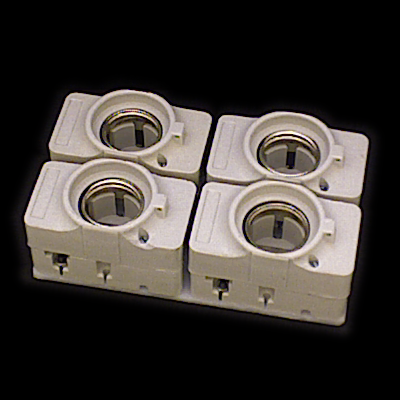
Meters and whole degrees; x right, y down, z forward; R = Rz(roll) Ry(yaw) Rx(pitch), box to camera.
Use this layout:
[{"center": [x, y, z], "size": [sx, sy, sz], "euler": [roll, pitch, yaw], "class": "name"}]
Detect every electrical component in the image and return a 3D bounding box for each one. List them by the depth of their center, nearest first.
[{"center": [0.000, 0.000, 0.628], "size": [0.186, 0.105, 0.060], "euler": [9, -37, 6], "class": "electrical component"}]
